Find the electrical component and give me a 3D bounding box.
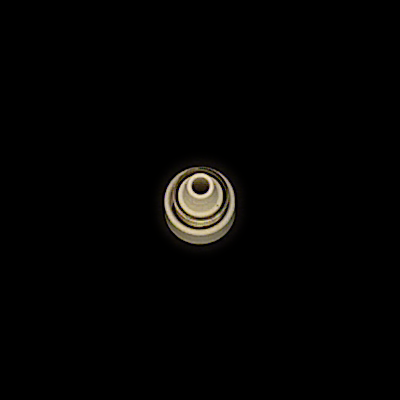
[{"bbox_3d":[0.000,0.000,0.634,0.043,0.043,0.061,0,-17,-1],"label":"electrical component"}]
